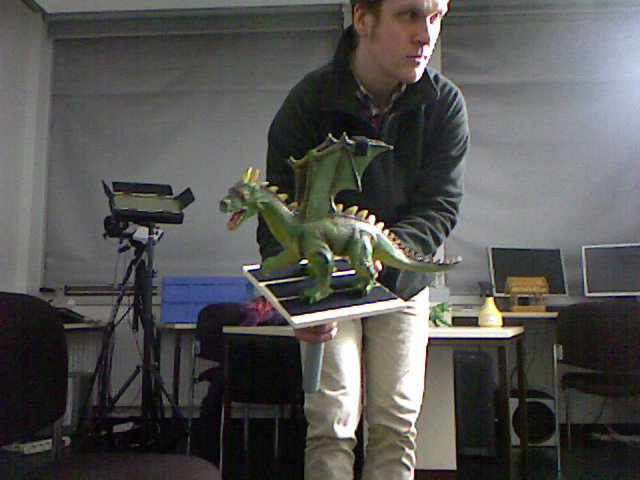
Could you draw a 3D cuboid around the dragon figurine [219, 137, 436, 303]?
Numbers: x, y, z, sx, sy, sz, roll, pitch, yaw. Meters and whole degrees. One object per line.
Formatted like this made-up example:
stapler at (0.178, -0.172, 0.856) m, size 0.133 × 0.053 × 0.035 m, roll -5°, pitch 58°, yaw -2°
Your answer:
dragon figurine at (0.036, -0.040, 0.813) m, size 0.413 × 0.239 × 0.124 m, roll -6°, pitch 26°, yaw -28°
